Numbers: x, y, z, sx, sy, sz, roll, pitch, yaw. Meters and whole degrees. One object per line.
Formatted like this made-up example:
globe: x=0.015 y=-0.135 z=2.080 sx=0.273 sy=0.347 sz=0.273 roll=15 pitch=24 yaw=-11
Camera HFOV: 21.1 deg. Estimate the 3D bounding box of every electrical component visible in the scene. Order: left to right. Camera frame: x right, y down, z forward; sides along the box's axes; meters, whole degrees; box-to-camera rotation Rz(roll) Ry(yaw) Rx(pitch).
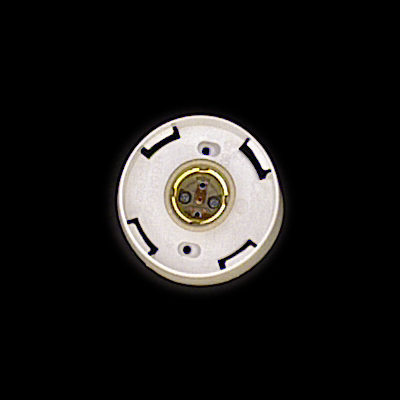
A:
electrical component: x=0.000 y=0.000 z=0.625 sx=0.099 sy=0.099 sz=0.064 roll=0 pitch=-7 yaw=0
